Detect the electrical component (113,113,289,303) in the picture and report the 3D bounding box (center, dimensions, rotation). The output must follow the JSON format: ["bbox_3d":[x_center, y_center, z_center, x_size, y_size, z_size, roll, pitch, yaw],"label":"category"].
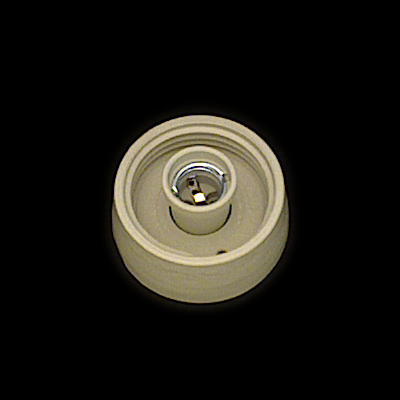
[{"bbox_3d":[0.000,0.000,0.633,0.108,0.108,0.060,0,-26,-1],"label":"electrical component"}]
